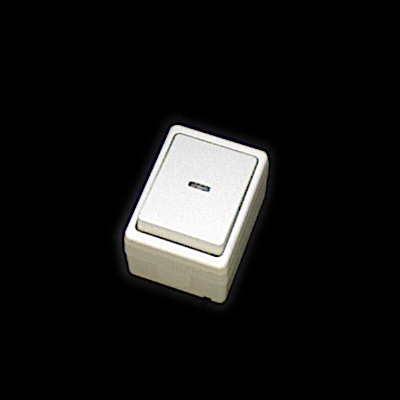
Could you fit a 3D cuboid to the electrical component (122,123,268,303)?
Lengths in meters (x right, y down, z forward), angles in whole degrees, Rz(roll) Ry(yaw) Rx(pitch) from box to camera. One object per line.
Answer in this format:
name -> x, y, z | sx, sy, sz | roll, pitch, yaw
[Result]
electrical component -> 0.000, 0.000, 0.627 | 0.061, 0.096, 0.061 | 18, -26, 9
